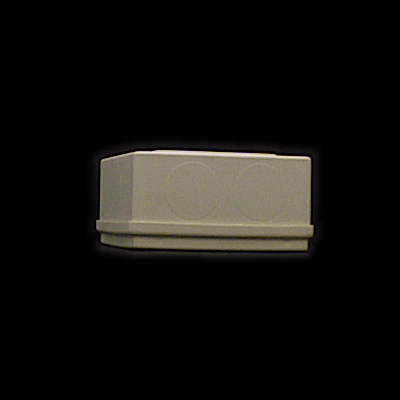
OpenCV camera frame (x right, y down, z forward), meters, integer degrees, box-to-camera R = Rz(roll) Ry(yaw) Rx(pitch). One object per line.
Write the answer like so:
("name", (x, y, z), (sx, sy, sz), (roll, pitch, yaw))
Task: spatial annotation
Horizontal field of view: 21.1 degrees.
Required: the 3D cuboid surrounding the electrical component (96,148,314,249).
("electrical component", (0.000, 0.000, 0.649), (0.109, 0.056, 0.108), (1, 0, -17))
